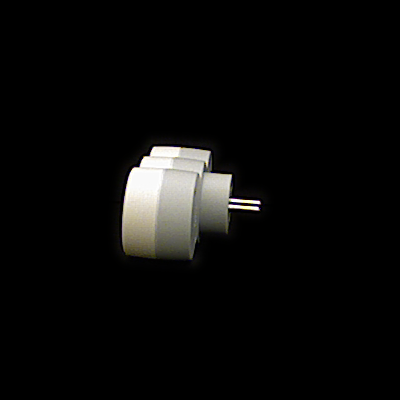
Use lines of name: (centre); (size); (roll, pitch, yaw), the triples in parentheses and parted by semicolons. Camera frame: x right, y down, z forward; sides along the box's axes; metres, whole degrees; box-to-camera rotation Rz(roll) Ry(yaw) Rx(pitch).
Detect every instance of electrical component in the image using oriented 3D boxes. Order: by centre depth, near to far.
electrical component: (0.000, 0.000, 0.650); (0.073, 0.052, 0.137); (4, 11, 5)
